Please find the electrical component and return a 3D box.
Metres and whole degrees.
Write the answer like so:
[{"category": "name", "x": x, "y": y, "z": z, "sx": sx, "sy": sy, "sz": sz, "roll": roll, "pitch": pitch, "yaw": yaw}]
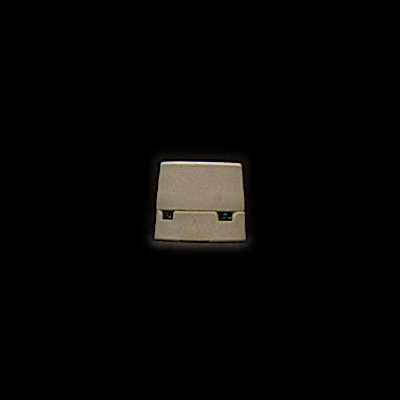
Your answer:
[{"category": "electrical component", "x": 0.000, "y": 0.000, "z": 0.649, "sx": 0.055, "sy": 0.047, "sz": 0.055, "roll": 1, "pitch": 2, "yaw": 0}]
